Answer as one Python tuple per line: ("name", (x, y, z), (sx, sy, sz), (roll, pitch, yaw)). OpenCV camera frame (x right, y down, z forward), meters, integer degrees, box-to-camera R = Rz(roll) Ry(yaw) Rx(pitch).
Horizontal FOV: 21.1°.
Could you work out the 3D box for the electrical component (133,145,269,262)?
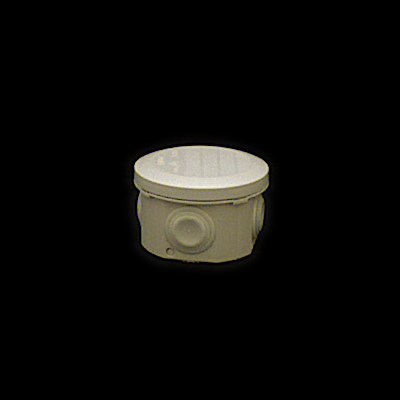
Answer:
("electrical component", (0.000, 0.000, 0.643), (0.080, 0.051, 0.079), (1, 21, 0))
